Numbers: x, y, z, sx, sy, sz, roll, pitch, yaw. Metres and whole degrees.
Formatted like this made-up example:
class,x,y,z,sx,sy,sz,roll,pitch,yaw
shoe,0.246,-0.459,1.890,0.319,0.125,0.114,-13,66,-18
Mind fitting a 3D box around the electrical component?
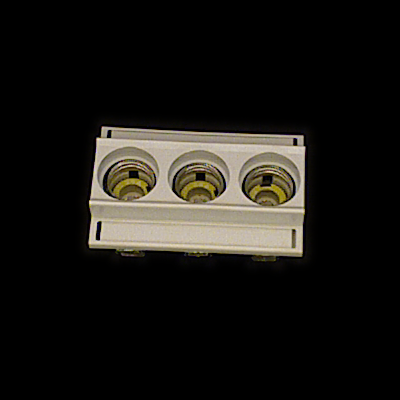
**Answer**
class,x,y,z,sx,sy,sz,roll,pitch,yaw
electrical component,0.000,0.000,0.638,0.121,0.078,0.063,3,-28,1
